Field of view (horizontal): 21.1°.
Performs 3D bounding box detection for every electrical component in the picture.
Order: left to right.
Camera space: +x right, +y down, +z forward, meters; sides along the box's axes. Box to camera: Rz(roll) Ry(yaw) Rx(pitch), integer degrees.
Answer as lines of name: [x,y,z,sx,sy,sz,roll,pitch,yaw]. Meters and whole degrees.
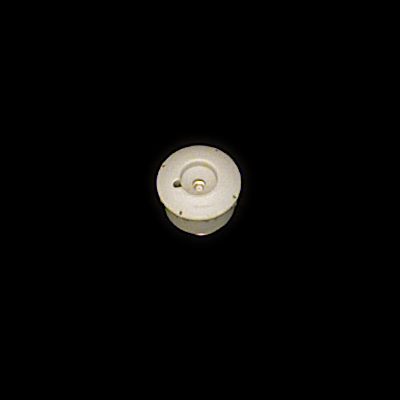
electrical component: [0.000,0.000,0.632,0.048,0.048,0.062,0,-27,0]
